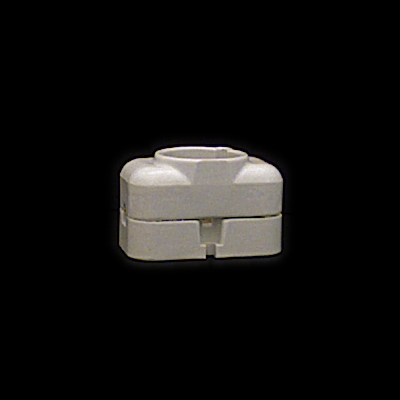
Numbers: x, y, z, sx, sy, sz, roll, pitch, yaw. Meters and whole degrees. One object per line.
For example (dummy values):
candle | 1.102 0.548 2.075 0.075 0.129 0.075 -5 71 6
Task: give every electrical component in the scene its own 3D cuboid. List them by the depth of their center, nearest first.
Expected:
electrical component | 0.000 0.000 0.652 0.096 0.060 0.053 -2 12 -16
